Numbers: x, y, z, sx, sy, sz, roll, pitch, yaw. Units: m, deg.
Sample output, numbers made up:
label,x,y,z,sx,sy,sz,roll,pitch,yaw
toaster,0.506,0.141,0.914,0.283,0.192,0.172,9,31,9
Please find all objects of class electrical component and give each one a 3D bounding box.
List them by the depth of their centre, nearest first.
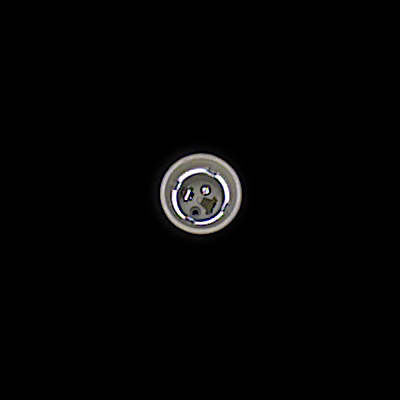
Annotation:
label,x,y,z,sx,sy,sz,roll,pitch,yaw
electrical component,0.000,0.000,0.625,0.044,0.044,0.065,0,-7,0
